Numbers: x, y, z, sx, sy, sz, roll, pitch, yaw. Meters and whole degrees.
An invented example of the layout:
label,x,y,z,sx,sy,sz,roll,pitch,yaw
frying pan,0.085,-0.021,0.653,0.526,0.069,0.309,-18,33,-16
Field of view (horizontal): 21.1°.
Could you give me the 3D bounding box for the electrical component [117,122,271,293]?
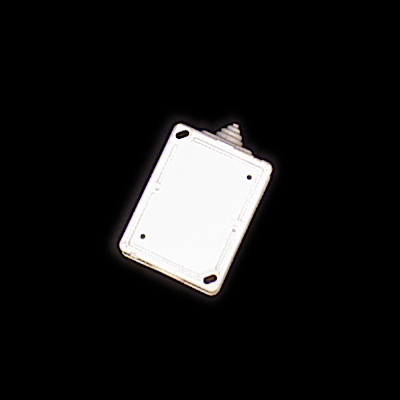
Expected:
label,x,y,z,sx,sy,sz,roll,pitch,yaw
electrical component,0.000,0.000,0.629,0.062,0.096,0.061,25,-7,3
